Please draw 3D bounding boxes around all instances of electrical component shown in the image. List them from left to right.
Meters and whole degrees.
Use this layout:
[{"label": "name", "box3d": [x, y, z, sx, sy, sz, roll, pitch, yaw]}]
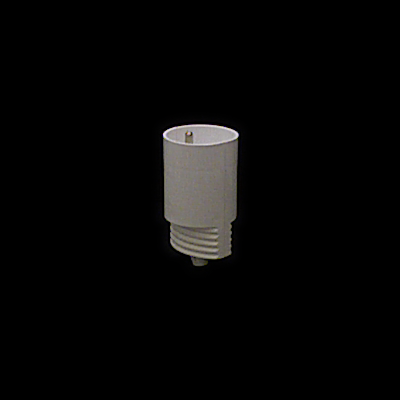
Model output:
[{"label": "electrical component", "box3d": [0.000, 0.000, 0.634, 0.043, 0.082, 0.042, 1, 20, 0]}]
